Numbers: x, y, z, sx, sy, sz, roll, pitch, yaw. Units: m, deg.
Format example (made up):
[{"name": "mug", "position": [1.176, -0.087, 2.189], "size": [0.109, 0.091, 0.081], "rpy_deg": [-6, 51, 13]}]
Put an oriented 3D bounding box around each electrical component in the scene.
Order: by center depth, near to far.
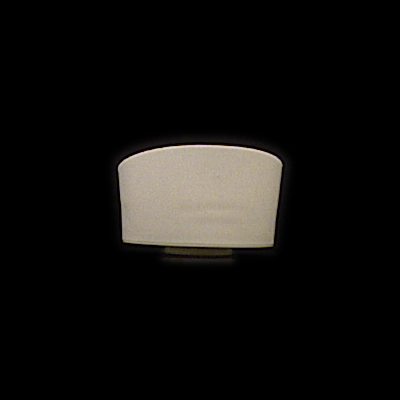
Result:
[{"name": "electrical component", "position": [0.000, 0.000, 0.649], "size": [0.099, 0.064, 0.099], "rpy_deg": [2, 1, 0]}]
